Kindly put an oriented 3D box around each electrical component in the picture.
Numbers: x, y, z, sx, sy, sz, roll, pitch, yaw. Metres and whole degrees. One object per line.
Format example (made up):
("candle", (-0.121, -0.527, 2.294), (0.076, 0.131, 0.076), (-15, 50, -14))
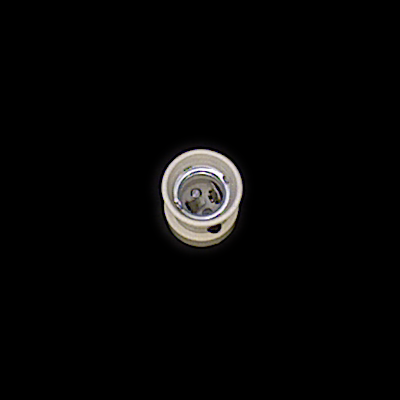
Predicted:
("electrical component", (0.000, 0.000, 0.628), (0.045, 0.045, 0.055), (0, -17, 0))
